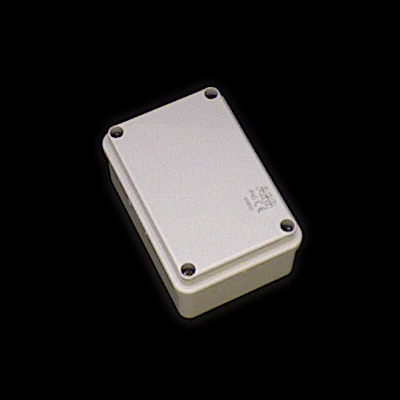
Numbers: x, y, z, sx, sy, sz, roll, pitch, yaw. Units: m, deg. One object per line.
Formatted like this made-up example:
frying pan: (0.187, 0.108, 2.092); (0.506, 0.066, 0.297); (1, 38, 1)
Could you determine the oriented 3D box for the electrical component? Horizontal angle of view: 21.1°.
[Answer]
electrical component: (0.000, 0.000, 0.627); (0.078, 0.113, 0.057); (-23, -25, -12)
